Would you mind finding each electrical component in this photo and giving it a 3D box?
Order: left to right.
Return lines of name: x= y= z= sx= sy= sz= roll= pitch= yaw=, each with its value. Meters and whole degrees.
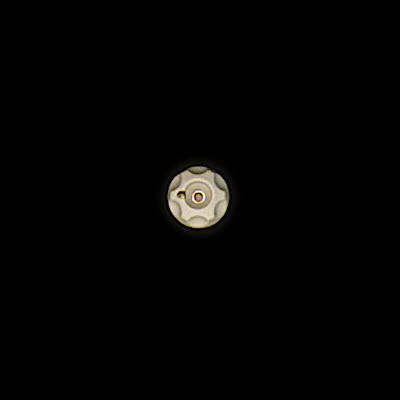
electrical component: x=0.000 y=0.000 z=0.635 sx=0.035 sy=0.035 sz=0.061 roll=0 pitch=-6 yaw=1
